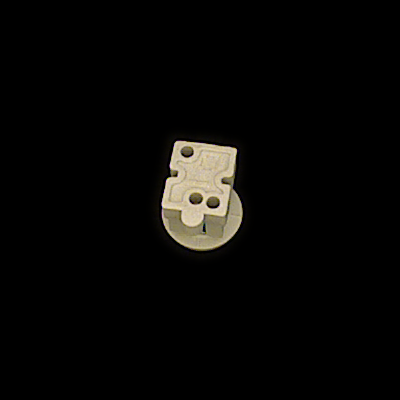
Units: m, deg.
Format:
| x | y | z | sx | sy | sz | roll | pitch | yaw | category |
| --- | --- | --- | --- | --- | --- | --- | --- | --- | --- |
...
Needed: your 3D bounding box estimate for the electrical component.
| x | y | z | sx | sy | sz | roll | pitch | yaw | category |
| --- | --- | --- | --- | --- | --- | --- | --- | --- | --- |
| 0.000 | 0.000 | 0.637 | 0.048 | 0.066 | 0.055 | 8 | -27 | 6 | electrical component |
